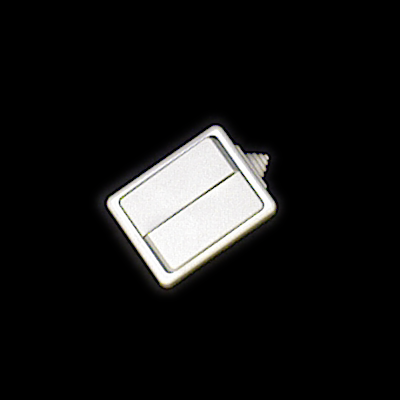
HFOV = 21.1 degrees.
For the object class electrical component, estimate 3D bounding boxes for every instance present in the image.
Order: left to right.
[{"bbox_3d":[0.000,0.000,0.627,0.096,0.062,0.061,-35,-6,-4],"label":"electrical component"}]
